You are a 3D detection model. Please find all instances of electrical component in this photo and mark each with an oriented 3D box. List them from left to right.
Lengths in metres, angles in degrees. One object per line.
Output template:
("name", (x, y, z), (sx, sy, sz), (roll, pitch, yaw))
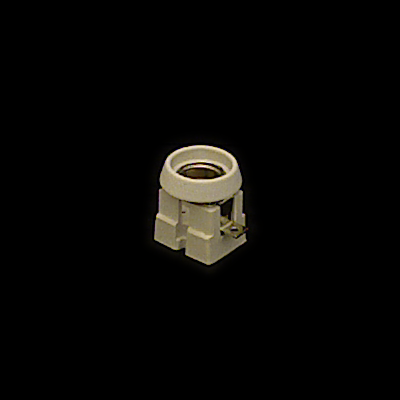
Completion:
("electrical component", (0.000, 0.000, 0.643), (0.065, 0.056, 0.048), (23, 41, 31))
